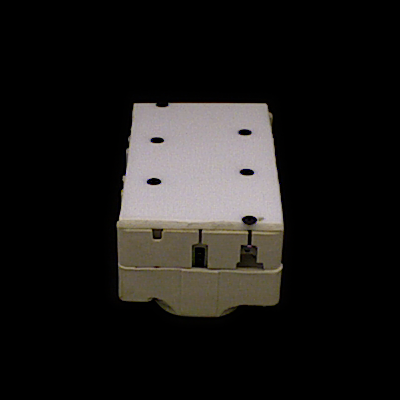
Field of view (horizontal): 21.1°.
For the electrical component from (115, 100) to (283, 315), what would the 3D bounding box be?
[{"bbox_3d":[0.000,0.000,0.643,0.089,0.063,0.146,1,31,0],"label":"electrical component"}]
